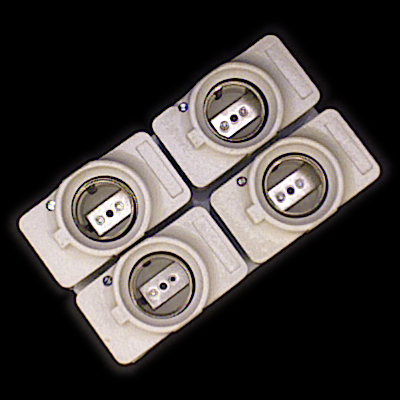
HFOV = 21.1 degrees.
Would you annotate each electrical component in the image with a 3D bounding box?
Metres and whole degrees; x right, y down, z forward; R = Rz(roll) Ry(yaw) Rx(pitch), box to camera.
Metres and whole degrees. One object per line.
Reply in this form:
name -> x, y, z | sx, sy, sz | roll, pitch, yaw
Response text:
electrical component -> 0.000, 0.000, 0.626 | 0.186, 0.106, 0.060 | -37, -5, -4
